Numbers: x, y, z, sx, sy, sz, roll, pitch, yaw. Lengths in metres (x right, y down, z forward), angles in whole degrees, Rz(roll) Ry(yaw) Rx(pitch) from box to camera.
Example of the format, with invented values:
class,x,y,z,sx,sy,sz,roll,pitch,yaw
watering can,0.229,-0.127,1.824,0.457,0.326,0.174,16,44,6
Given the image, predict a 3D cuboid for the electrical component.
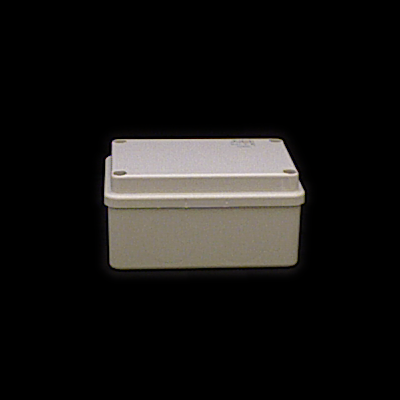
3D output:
class,x,y,z,sx,sy,sz,roll,pitch,yaw
electrical component,0.000,0.000,0.641,0.113,0.058,0.077,-1,21,-4
